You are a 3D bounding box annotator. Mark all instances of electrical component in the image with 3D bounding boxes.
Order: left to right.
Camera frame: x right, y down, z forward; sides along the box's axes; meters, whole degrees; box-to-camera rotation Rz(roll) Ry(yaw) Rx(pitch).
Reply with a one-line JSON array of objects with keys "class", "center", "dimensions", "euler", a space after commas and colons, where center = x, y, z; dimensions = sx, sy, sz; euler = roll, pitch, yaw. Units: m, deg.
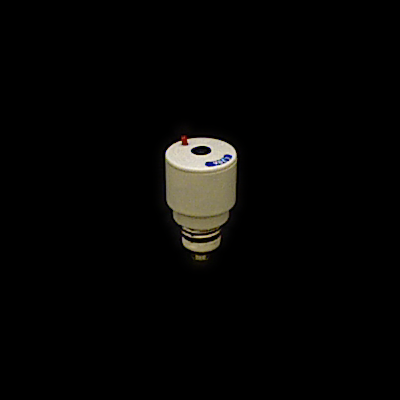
[{"class": "electrical component", "center": [0.000, 0.000, 0.631], "dimensions": [0.040, 0.079, 0.039], "euler": [0, 31, 0]}]
